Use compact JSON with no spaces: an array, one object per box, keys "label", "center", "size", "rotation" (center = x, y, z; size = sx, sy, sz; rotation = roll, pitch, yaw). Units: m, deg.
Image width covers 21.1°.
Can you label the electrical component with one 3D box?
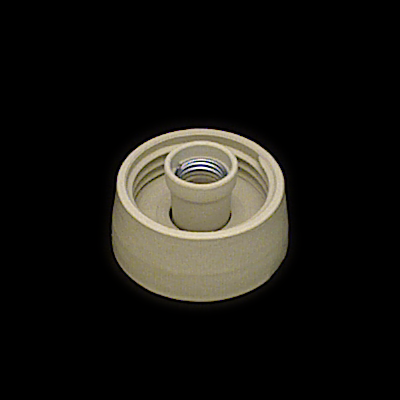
[{"label":"electrical component","center":[0.000,0.000,0.638],"size":[0.108,0.061,0.107],"rotation":[1,42,0]}]
